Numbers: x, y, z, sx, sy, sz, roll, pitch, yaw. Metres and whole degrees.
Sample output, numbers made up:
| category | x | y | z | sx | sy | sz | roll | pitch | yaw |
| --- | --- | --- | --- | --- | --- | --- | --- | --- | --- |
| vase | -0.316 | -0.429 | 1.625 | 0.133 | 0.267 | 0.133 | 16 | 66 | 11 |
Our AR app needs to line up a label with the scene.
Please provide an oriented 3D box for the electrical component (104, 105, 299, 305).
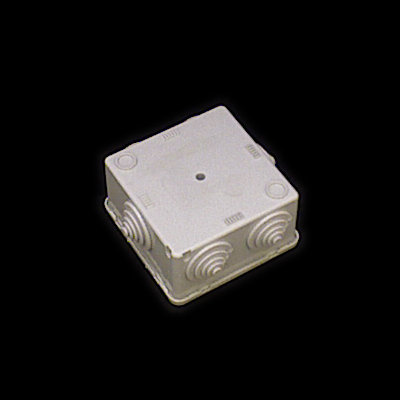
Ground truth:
| category | x | y | z | sx | sy | sz | roll | pitch | yaw |
| --- | --- | --- | --- | --- | --- | --- | --- | --- | --- |
| electrical component | 0.000 | 0.000 | 0.631 | 0.100 | 0.099 | 0.049 | -26 | -33 | -19 |
